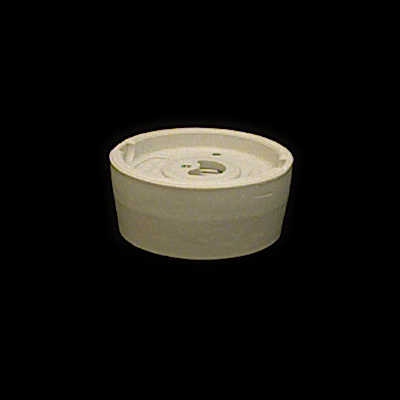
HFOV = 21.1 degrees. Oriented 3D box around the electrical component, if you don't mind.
[{"bbox_3d":[0.000,0.000,0.644,0.108,0.061,0.106,2,21,0],"label":"electrical component"}]
